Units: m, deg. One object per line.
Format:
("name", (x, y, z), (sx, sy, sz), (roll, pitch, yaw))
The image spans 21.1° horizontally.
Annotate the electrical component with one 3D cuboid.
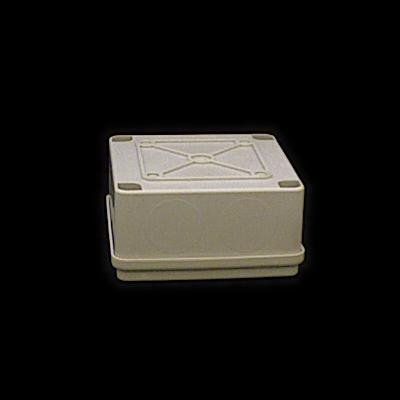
("electrical component", (0.000, 0.000, 0.639), (0.109, 0.057, 0.107), (-1, 21, -6))
